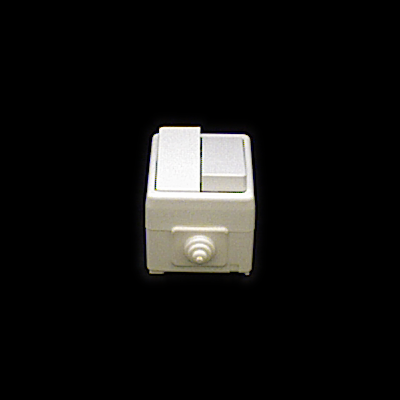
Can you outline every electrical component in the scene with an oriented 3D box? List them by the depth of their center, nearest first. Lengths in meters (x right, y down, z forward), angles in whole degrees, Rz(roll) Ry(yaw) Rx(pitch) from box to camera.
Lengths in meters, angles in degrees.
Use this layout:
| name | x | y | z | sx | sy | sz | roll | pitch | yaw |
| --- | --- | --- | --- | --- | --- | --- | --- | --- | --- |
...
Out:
| name | x | y | z | sx | sy | sz | roll | pitch | yaw |
| --- | --- | --- | --- | --- | --- | --- | --- | --- | --- |
| electrical component | 0.000 | 0.000 | 0.632 | 0.062 | 0.061 | 0.095 | 1 | 31 | 0 |
